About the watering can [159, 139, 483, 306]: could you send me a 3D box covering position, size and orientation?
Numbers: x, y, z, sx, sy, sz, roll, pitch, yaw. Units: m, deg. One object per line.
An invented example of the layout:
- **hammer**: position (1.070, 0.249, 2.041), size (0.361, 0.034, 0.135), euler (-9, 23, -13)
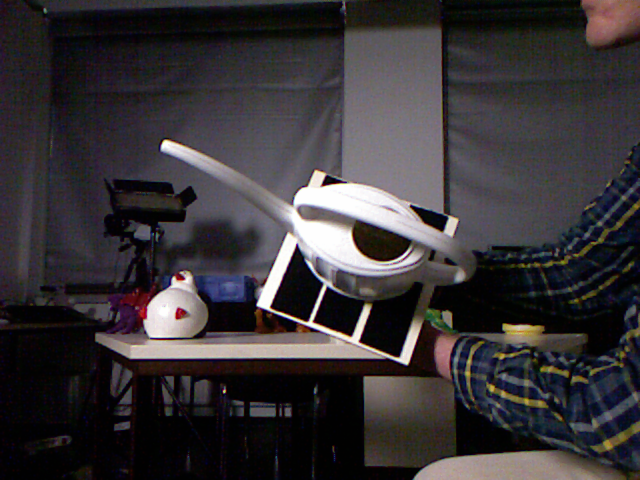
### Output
- **watering can**: position (0.003, -0.014, 0.585), size (0.352, 0.106, 0.223), euler (21, -17, 6)
